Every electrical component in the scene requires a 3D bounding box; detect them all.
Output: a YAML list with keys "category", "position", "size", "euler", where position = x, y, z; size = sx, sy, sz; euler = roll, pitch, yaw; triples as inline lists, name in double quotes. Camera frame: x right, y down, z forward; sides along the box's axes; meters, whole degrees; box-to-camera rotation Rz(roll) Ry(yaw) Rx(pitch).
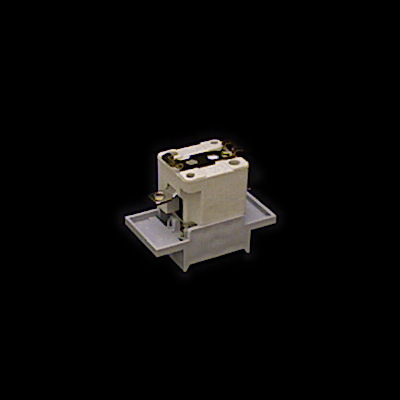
- category: "electrical component"
  position: [0.000, 0.000, 0.634]
  size: [0.081, 0.064, 0.041]
  euler: [-16, 35, -25]
